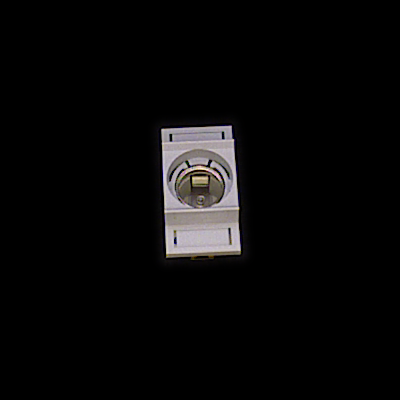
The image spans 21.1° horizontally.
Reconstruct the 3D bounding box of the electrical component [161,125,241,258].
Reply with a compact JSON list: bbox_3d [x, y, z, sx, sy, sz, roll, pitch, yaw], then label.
[{"bbox_3d":[0.000,0.000,0.625,0.042,0.081,0.064,-3,-27,0],"label":"electrical component"}]
